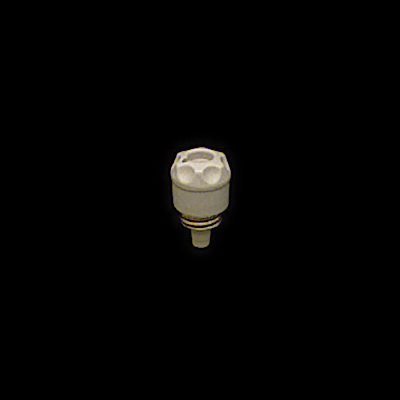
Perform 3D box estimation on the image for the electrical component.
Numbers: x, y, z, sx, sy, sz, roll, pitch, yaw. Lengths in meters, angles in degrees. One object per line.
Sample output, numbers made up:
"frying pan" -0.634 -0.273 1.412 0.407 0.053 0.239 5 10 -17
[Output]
"electrical component" 0.000 0.000 0.641 0.035 0.062 0.034 0 32 0
